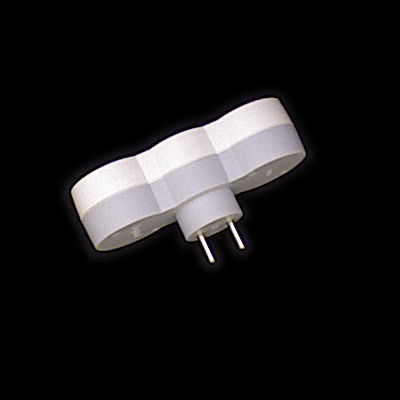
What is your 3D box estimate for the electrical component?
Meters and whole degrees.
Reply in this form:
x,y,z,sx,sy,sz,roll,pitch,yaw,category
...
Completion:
x,y,z,sx,sy,sz,roll,pitch,yaw,category
0.000,0.000,0.631,0.138,0.074,0.052,-24,-13,-8,electrical component
